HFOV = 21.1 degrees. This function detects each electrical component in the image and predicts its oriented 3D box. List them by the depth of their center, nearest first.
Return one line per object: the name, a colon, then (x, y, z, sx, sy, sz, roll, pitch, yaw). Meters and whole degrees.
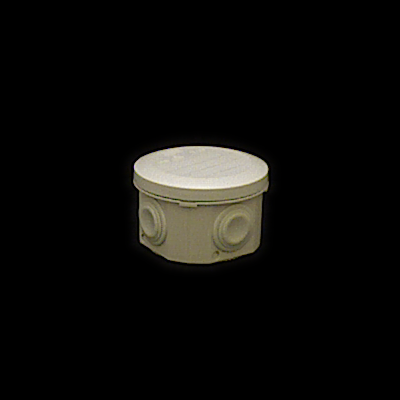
electrical component: (0.000, 0.000, 0.642, 0.080, 0.051, 0.079, 1, 21, 0)
